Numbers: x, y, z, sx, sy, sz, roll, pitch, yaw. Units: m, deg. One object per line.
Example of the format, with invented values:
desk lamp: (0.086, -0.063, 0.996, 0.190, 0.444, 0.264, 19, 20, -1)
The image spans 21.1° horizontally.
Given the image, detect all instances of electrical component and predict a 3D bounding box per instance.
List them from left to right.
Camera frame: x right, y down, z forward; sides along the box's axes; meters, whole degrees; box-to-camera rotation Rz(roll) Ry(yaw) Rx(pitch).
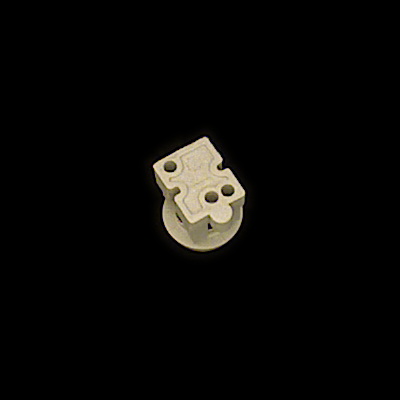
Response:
electrical component: (0.000, 0.000, 0.637, 0.048, 0.066, 0.055, -28, -24, -12)
